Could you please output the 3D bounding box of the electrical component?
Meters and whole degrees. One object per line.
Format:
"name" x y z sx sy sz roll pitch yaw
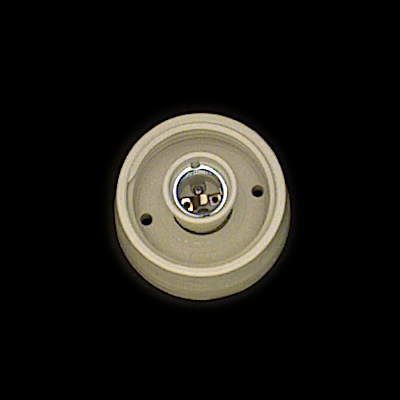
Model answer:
"electrical component" 0.000 0.000 0.634 0.108 0.108 0.060 0 -16 0
